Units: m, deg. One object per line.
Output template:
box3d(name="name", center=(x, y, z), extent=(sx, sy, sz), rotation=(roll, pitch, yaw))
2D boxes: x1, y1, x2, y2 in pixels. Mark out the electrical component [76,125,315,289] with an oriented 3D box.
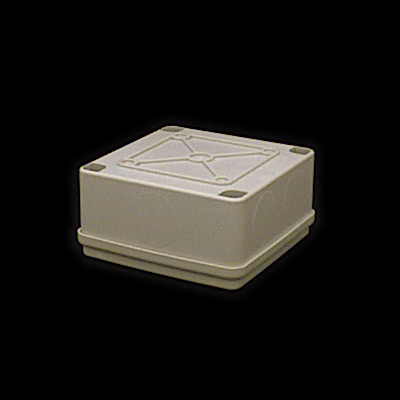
box3d(name="electrical component", center=(0.000, 0.000, 0.637), extent=(0.108, 0.057, 0.108), rotation=(11, 23, 26))
